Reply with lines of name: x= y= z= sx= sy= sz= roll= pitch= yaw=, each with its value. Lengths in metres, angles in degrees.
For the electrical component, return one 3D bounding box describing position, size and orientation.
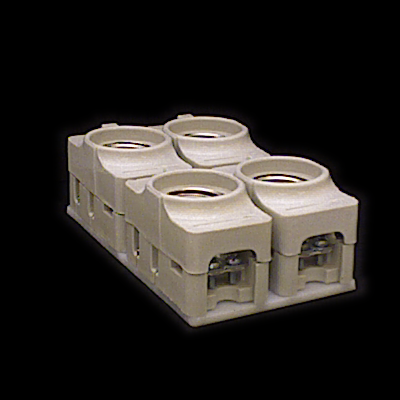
electrical component: x=0.000 y=0.000 z=0.638 sx=0.105 sy=0.061 sz=0.184 roll=-9 pitch=23 yaw=-26
